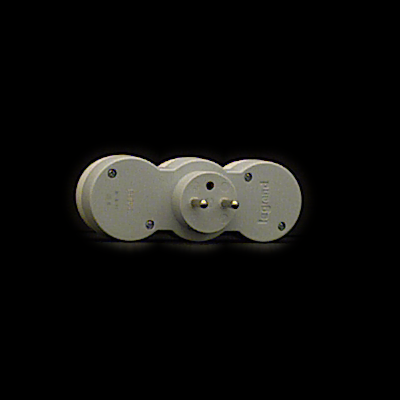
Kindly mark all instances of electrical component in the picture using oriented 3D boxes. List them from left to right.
[{"bbox_3d":[0.000,0.000,0.653,0.139,0.052,0.073,1,2,-20],"label":"electrical component"}]
